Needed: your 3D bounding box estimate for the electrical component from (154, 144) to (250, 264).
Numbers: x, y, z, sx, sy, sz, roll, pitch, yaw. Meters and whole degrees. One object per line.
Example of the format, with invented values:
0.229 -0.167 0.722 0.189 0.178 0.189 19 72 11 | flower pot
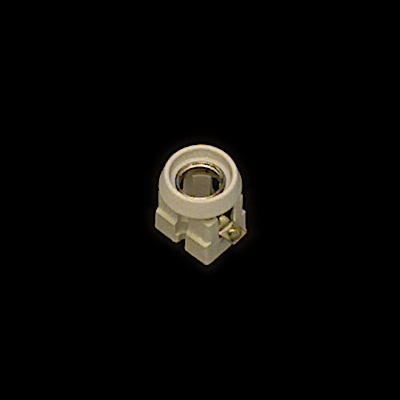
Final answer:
0.000 0.000 0.638 0.066 0.048 0.056 35 -28 23 | electrical component
